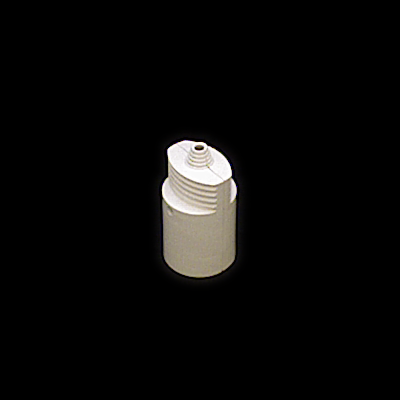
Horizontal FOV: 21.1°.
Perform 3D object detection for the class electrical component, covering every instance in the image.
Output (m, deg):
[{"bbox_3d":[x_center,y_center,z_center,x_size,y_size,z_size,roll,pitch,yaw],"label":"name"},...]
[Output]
[{"bbox_3d":[0.000,0.000,0.624,0.043,0.082,0.042,0,41,0],"label":"electrical component"}]
